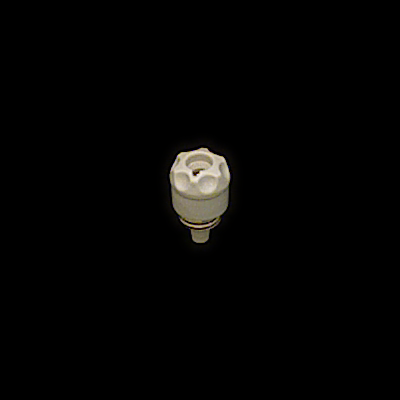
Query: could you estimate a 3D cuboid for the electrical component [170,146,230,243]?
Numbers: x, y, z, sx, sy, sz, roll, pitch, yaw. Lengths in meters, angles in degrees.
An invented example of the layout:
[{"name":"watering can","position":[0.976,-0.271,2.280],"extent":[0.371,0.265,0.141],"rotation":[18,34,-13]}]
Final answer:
[{"name":"electrical component","position":[0.000,0.000,0.636],"extent":[0.035,0.062,0.035],"rotation":[0,43,0]}]
